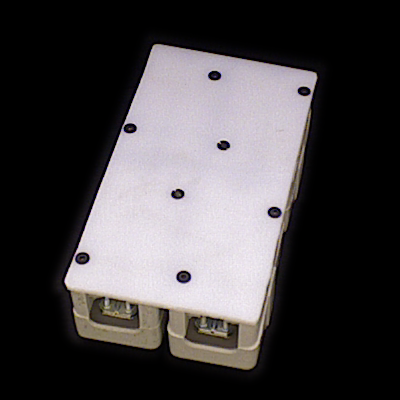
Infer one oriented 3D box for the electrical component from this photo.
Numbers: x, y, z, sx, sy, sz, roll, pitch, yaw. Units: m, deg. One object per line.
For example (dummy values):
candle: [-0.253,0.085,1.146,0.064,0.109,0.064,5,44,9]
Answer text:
electrical component: [0.000,0.000,0.627,0.105,0.185,0.060,11,-37,7]
